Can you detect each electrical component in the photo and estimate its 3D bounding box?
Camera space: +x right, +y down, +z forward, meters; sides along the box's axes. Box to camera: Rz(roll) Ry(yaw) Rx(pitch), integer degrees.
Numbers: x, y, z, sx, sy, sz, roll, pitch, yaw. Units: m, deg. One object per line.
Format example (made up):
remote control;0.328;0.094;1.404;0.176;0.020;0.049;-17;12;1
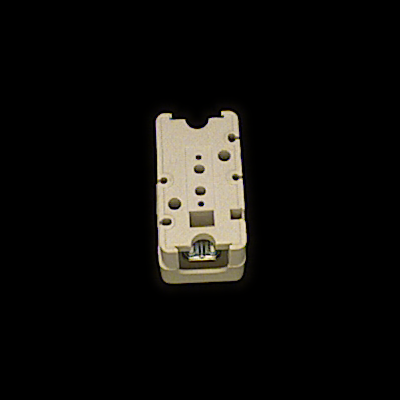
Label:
electrical component;0.000;0.000;0.636;0.050;0.089;0.055;-2;-26;-2
